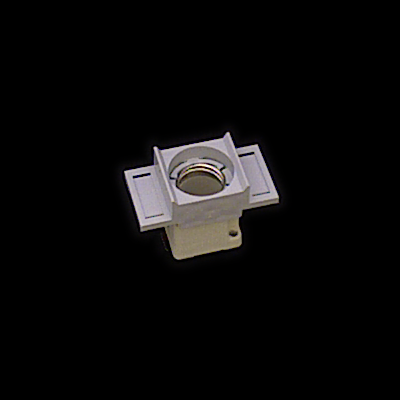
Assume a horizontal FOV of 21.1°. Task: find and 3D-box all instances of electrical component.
[{"bbox_3d":[0.000,0.000,0.625,0.081,0.042,0.064,-12,-36,-10],"label":"electrical component"}]
